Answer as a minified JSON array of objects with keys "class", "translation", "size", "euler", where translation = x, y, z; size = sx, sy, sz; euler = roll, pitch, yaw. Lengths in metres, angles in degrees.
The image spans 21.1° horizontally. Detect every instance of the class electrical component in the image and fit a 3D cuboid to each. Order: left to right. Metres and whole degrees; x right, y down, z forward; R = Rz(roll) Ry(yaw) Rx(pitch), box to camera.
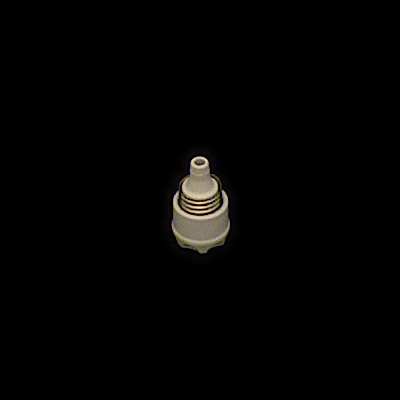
[{"class":"electrical component","translation":[0.000,0.000,0.641],"size":[0.035,0.062,0.035],"euler":[0,41,1]}]
